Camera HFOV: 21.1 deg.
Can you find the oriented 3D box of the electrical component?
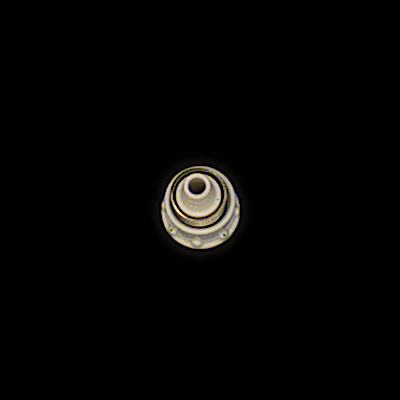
[{"bbox_3d":[0.000,0.000,0.633,0.048,0.048,0.061,0,-16,2],"label":"electrical component"}]
